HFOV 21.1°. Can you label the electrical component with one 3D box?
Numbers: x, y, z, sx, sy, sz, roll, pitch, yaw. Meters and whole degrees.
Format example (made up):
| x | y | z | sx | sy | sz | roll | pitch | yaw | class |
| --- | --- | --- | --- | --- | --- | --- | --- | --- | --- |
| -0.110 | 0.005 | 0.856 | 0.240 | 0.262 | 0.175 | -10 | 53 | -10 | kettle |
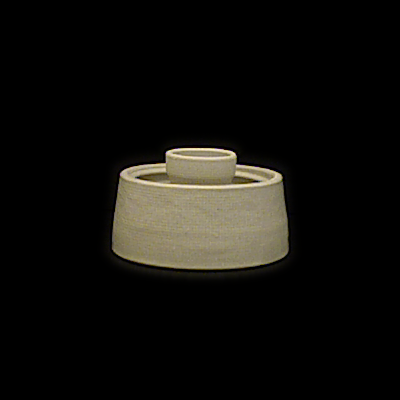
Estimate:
| x | y | z | sx | sy | sz | roll | pitch | yaw | class |
| --- | --- | --- | --- | --- | --- | --- | --- | --- | --- |
| 0.000 | 0.000 | 0.650 | 0.108 | 0.061 | 0.107 | 1 | 11 | 0 | electrical component |
